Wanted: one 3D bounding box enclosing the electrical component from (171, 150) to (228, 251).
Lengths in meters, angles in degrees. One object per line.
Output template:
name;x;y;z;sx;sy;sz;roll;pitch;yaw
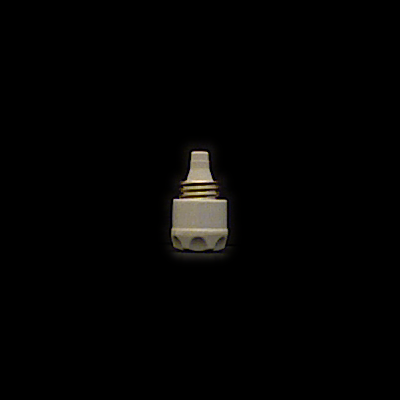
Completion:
electrical component;0.000;0.000;0.662;0.035;0.061;0.035;0;3;0
